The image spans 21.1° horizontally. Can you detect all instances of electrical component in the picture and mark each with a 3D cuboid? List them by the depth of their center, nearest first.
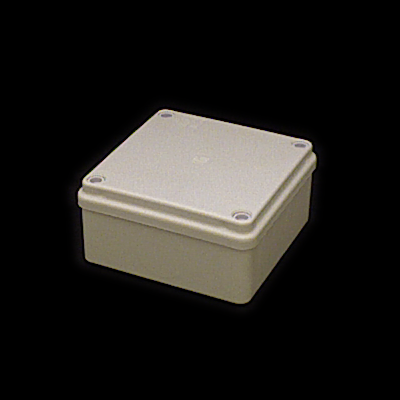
[{"bbox_3d":[0.000,0.000,0.634,0.108,0.057,0.108,14,34,20],"label":"electrical component"}]
